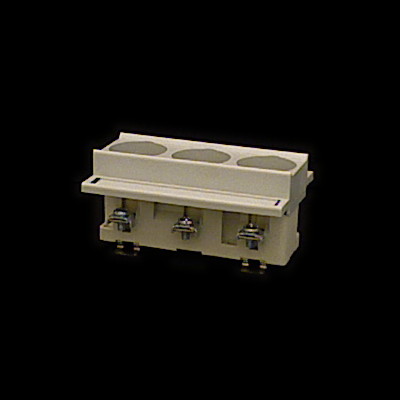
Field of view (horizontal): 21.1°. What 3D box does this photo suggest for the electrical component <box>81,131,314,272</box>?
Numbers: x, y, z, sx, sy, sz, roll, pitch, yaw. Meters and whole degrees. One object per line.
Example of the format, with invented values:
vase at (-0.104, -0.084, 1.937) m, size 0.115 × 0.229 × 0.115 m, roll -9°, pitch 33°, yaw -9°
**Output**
electrical component at (0.000, 0.000, 0.653) m, size 0.121 × 0.064 × 0.078 m, roll 8°, pitch 21°, yaw 17°
